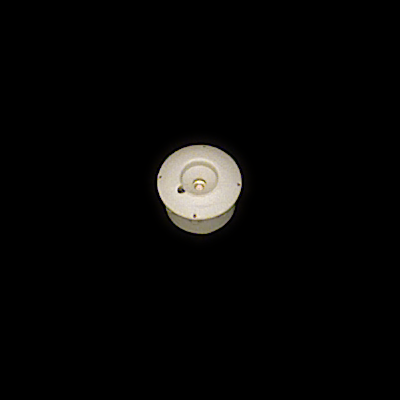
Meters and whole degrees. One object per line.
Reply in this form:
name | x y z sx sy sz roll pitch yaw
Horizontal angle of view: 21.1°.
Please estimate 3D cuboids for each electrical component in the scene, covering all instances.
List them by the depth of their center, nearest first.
electrical component | 0.000 0.000 0.632 0.048 0.048 0.062 0 -27 0
